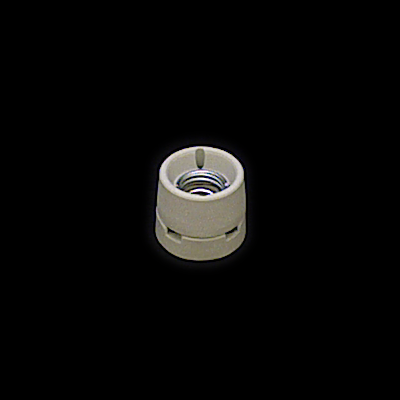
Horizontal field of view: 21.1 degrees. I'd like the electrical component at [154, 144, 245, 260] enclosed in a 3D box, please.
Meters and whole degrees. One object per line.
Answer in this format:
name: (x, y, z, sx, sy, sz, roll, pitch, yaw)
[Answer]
electrical component: (0.000, 0.000, 0.637, 0.055, 0.047, 0.055, 1, 41, 0)
